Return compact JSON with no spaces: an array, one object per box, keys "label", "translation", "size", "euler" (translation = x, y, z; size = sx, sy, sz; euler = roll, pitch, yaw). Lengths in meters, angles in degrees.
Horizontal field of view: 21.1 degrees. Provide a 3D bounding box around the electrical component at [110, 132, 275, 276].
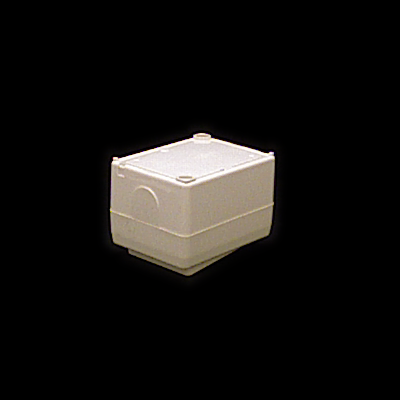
[{"label":"electrical component","translation":[0.000,0.000,0.639],"size":[0.061,0.061,0.096],"euler":[19,26,38]}]
